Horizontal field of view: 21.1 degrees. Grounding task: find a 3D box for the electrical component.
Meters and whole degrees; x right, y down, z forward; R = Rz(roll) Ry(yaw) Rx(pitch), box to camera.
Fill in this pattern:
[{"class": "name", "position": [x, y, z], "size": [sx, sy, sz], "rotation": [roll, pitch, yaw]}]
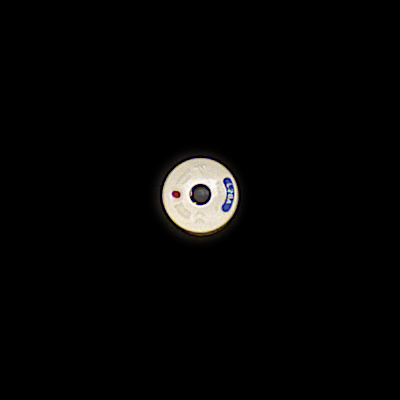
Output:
[{"class": "electrical component", "position": [0.000, 0.000, 0.618], "size": [0.040, 0.040, 0.078], "rotation": [0, -6, 1]}]
